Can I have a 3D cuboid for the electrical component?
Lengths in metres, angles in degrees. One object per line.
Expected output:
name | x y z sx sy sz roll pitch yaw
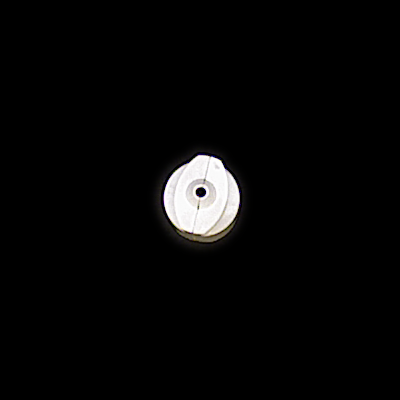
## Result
electrical component | 0.000 0.000 0.616 0.043 0.043 0.080 0 -6 1
